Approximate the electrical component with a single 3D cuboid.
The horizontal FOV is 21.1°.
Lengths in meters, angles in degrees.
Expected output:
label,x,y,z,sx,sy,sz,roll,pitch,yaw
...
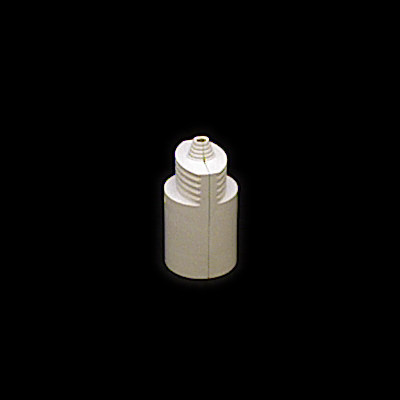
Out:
label,x,y,z,sx,sy,sz,roll,pitch,yaw
electrical component,0.000,0.000,0.629,0.043,0.082,0.042,1,31,0
